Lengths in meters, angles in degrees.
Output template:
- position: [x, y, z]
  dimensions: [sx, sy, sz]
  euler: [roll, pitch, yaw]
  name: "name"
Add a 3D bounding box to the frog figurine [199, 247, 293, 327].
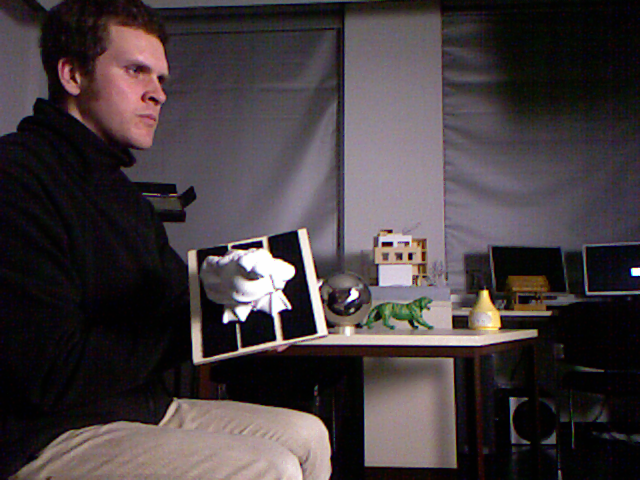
- position: [-0.111, 0.049, 0.750]
  dimensions: [0.138, 0.126, 0.156]
  euler: [4, -34, 7]
  name: "frog figurine"
